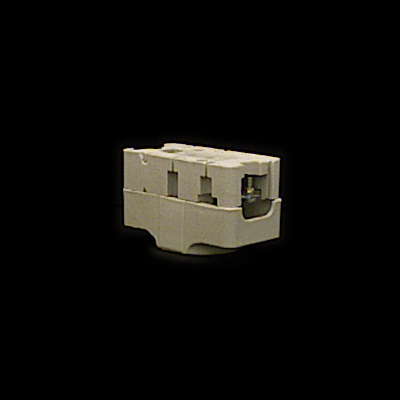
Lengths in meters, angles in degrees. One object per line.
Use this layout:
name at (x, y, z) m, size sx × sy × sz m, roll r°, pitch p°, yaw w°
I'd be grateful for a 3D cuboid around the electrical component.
electrical component at (0.000, 0.000, 0.650) m, size 0.088 × 0.056 × 0.050 m, roll 10°, pitch 16°, yaw 41°
